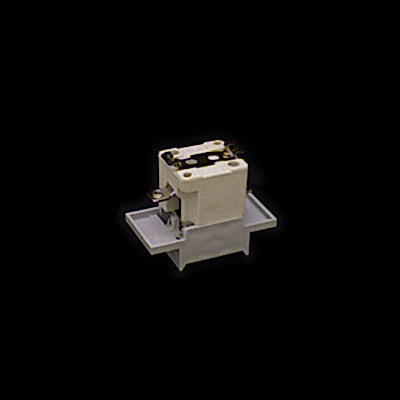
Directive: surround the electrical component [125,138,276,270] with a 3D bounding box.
[{"bbox_3d":[0.000,0.000,0.634,0.081,0.064,0.041,-13,34,-21],"label":"electrical component"}]
